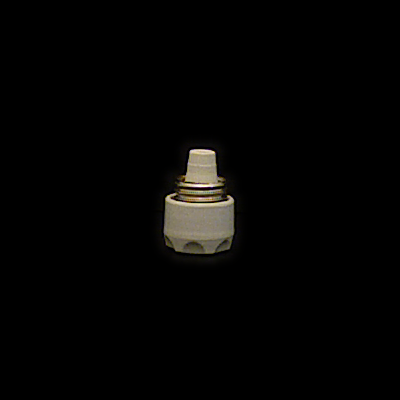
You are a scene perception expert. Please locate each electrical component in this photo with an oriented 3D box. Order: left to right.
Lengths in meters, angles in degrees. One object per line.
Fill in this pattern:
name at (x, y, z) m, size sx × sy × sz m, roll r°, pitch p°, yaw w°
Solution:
electrical component at (0.000, 0.000, 0.651) m, size 0.043 × 0.062 × 0.043 m, roll 2°, pitch 12°, yaw 0°
